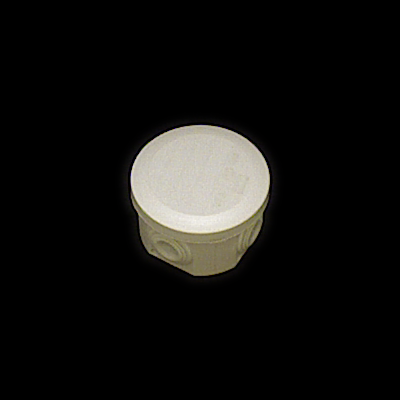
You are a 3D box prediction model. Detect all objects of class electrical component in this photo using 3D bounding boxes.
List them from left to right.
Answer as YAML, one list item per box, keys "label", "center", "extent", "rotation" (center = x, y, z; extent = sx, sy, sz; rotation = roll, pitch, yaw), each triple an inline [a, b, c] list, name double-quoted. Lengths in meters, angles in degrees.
- label: "electrical component"
  center: [0.000, 0.000, 0.630]
  extent: [0.080, 0.080, 0.051]
  rotation: [0, -38, 0]
